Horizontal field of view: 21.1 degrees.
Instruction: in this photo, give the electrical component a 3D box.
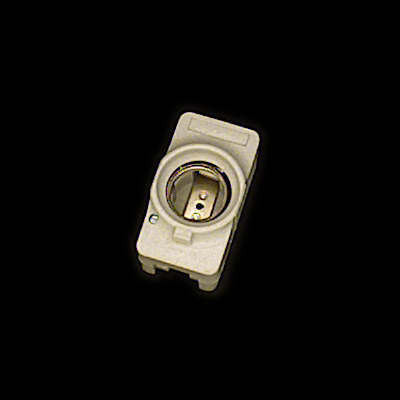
[{"bbox_3d":[0.000,0.000,0.636,0.050,0.090,0.055,16,-16,5],"label":"electrical component"}]
